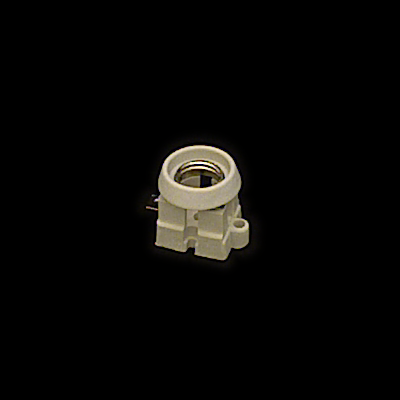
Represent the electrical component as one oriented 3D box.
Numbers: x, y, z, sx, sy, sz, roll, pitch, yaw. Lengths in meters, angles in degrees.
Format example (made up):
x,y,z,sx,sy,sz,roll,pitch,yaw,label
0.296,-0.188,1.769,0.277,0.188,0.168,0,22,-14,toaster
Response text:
x,y,z,sx,sy,sz,roll,pitch,yaw,label
0.000,0.000,0.639,0.066,0.056,0.048,11,42,11,electrical component
